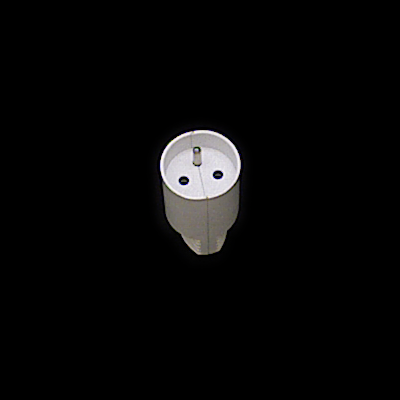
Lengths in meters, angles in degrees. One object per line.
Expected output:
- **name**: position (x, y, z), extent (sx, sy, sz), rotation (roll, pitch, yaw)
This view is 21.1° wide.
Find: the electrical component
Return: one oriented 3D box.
- **electrical component**: position (0.000, 0.000, 0.617), extent (0.043, 0.043, 0.081), rotation (0, -28, 0)
